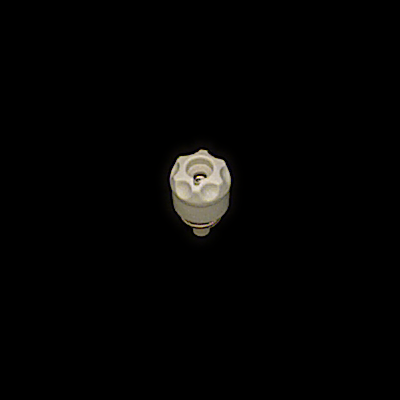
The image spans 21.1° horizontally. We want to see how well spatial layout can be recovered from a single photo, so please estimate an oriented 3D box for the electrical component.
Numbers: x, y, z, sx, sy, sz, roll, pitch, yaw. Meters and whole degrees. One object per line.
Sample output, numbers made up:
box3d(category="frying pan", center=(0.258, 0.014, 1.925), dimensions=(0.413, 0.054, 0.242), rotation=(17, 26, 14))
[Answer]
box3d(category="electrical component", center=(0.000, 0.000, 0.634), dimensions=(0.035, 0.035, 0.061), rotation=(0, -37, 0))
